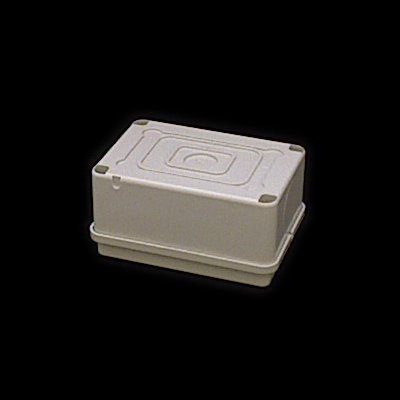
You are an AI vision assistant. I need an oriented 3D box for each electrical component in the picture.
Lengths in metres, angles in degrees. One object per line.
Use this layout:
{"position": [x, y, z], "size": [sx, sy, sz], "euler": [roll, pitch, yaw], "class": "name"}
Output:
{"position": [0.000, 0.000, 0.635], "size": [0.113, 0.058, 0.077], "euler": [11, 33, 15], "class": "electrical component"}
